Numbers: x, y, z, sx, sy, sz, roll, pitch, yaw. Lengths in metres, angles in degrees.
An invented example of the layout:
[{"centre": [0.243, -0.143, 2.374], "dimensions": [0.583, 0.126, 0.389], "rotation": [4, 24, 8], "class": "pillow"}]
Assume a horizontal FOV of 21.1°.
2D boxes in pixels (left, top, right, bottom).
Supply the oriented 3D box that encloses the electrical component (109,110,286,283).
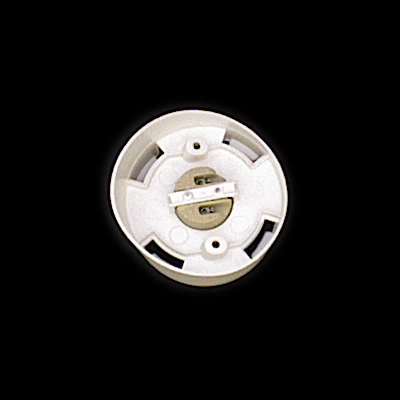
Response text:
[{"centre": [0.000, 0.000, 0.623], "dimensions": [0.099, 0.099, 0.064], "rotation": [0, -16, 1], "class": "electrical component"}]
